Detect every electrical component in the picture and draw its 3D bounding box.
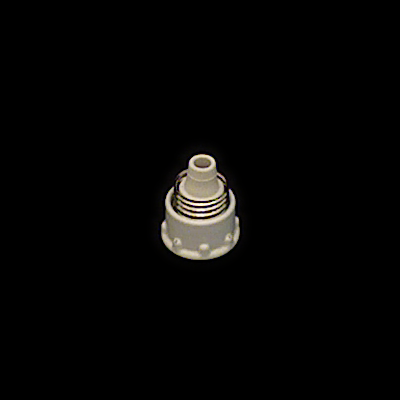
[{"bbox_3d":[0.000,0.000,0.639,0.048,0.062,0.047,1,42,-1],"label":"electrical component"}]
